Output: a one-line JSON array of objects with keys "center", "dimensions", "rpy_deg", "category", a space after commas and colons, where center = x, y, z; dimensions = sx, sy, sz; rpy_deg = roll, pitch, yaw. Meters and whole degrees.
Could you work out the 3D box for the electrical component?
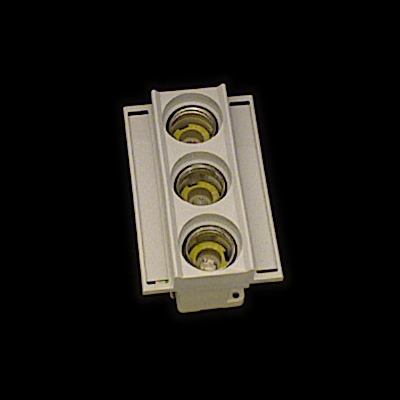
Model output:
[{"center": [0.000, 0.000, 0.638], "dimensions": [0.079, 0.121, 0.063], "rpy_deg": [-6, -27, -4], "category": "electrical component"}]
